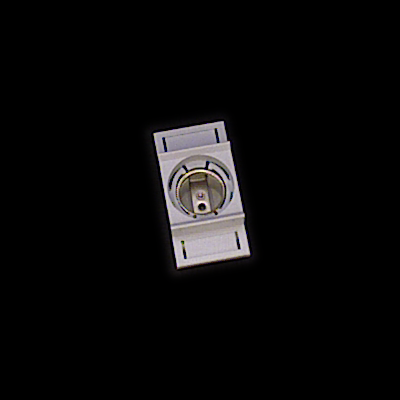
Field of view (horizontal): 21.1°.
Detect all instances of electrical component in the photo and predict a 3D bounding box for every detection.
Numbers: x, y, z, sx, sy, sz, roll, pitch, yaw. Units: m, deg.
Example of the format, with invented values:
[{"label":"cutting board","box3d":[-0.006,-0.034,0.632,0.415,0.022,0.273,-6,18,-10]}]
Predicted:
[{"label":"electrical component","box3d":[0.000,0.000,0.624,0.042,0.081,0.063,-10,-16,-1]}]
